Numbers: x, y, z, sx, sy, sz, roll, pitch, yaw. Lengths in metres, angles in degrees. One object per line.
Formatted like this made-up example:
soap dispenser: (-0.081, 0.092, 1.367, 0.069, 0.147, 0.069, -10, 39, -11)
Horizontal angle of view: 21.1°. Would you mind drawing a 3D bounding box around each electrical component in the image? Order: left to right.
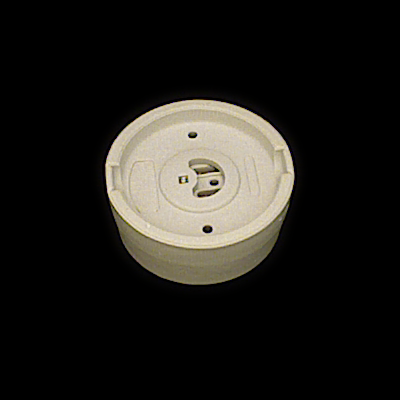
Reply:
electrical component: (0.000, 0.000, 0.633, 0.108, 0.107, 0.060, 0, -37, -1)
